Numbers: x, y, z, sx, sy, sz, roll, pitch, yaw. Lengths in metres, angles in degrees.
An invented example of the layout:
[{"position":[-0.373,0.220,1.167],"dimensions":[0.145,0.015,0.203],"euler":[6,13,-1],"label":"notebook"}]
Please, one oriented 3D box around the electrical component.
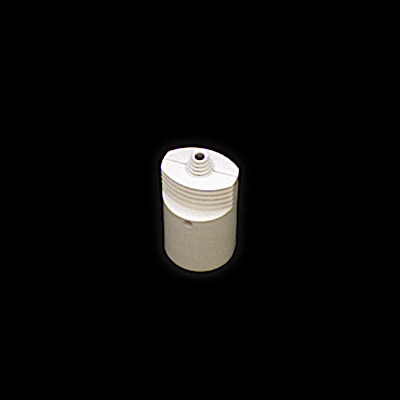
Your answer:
[{"position":[0.000,0.000,0.620],"dimensions":[0.043,0.043,0.081],"euler":[0,-38,0],"label":"electrical component"}]
